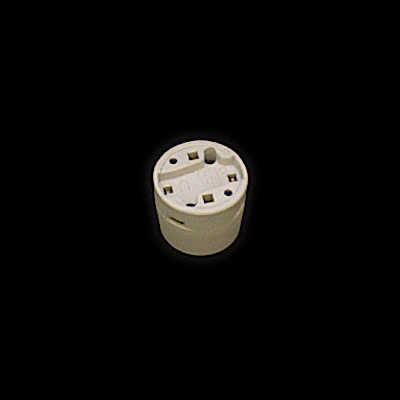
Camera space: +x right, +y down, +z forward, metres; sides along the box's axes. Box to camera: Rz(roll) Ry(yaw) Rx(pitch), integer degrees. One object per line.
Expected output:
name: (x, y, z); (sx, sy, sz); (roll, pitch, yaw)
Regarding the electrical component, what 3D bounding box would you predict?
electrical component: (0.000, 0.000, 0.635); (0.055, 0.055, 0.047); (0, -37, 0)
